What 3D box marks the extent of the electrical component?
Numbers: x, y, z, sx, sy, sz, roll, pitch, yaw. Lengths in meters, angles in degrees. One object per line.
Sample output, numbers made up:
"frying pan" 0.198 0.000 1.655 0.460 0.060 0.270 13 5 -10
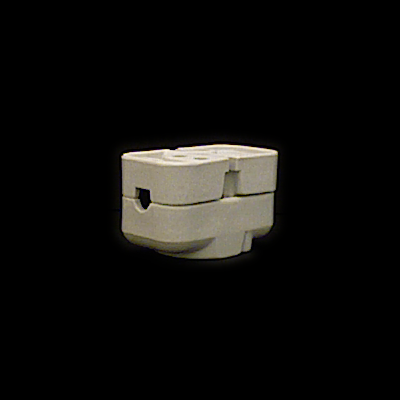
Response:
"electrical component" 0.000 0.000 0.651 0.095 0.060 0.053 -9 15 -44
